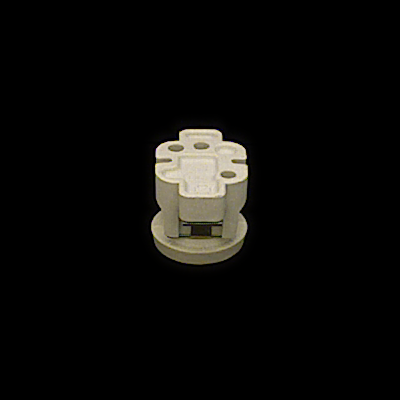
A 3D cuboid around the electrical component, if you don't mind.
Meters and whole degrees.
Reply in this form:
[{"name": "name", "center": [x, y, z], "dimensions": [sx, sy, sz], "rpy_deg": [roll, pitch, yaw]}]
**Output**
[{"name": "electrical component", "center": [0.000, 0.000, 0.641], "dimensions": [0.058, 0.057, 0.077], "rpy_deg": [0, 34, -3]}]
